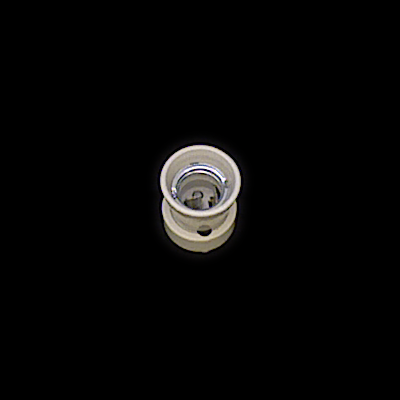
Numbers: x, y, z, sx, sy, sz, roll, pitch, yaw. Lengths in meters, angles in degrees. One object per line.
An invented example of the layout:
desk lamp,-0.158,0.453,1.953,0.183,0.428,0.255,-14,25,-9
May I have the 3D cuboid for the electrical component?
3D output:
electrical component,0.000,0.000,0.629,0.045,0.045,0.055,0,-27,-1
